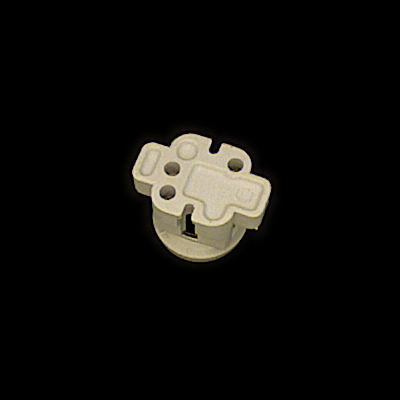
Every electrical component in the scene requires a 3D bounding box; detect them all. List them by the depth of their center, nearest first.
[{"bbox_3d":[0.000,0.000,0.636,0.078,0.058,0.057,18,-26,7],"label":"electrical component"}]
